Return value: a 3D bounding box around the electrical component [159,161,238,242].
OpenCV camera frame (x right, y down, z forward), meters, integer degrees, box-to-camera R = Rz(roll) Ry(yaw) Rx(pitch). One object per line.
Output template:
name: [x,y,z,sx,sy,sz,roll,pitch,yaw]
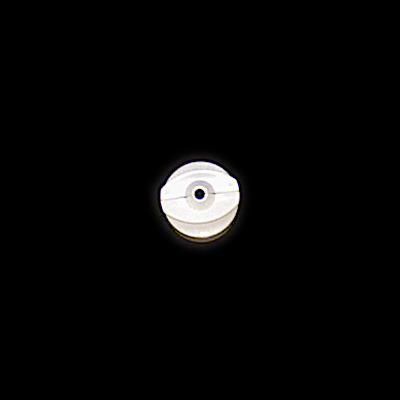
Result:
electrical component: [0.000,0.000,0.616,0.043,0.043,0.080,0,-6,1]
